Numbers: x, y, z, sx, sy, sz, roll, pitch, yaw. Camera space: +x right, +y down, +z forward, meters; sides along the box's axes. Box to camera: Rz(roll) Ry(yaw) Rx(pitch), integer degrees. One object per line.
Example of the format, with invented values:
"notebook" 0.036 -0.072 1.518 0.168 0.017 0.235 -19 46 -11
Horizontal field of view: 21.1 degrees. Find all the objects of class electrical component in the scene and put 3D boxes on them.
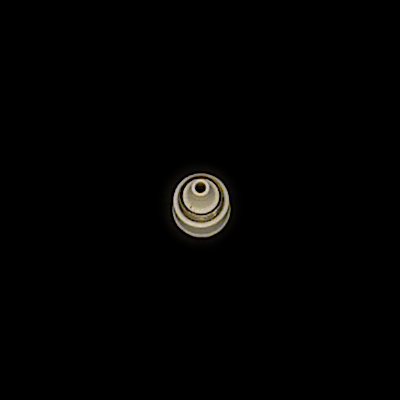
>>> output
"electrical component" 0.000 0.000 0.638 0.035 0.035 0.061 0 -15 1
